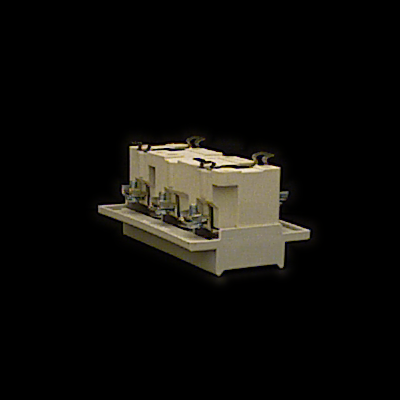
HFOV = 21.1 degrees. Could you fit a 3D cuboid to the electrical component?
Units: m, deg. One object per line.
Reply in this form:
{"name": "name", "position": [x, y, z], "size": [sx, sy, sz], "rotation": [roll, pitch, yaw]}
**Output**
{"name": "electrical component", "position": [0.000, 0.000, 0.648], "size": [0.079, 0.063, 0.119], "rotation": [-6, 13, -29]}
